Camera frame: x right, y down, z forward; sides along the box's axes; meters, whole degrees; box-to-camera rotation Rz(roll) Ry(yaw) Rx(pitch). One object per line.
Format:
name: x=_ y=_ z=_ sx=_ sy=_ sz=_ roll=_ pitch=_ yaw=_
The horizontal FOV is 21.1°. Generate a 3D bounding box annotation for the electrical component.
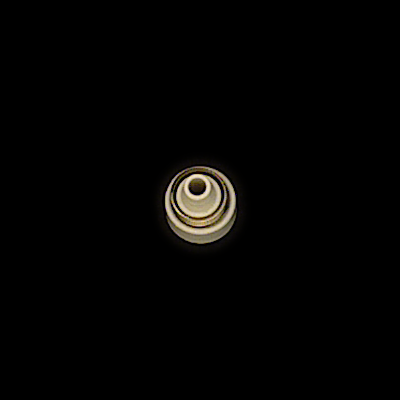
electrical component: x=0.000 y=0.000 z=0.634 sx=0.043 sy=0.043 sz=0.062 roll=0 pitch=-16 yaw=2
